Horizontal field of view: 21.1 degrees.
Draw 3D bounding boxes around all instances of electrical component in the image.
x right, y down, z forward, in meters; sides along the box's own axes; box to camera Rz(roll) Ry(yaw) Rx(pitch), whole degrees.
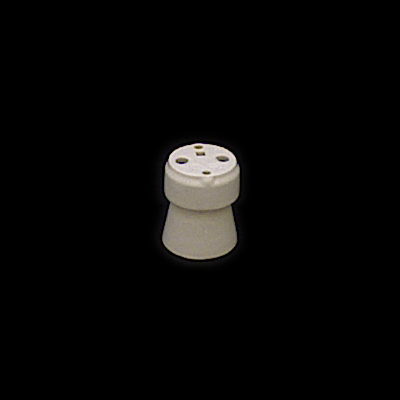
[{"bbox_3d":[0.000,0.000,0.636,0.045,0.056,0.044,1,32,-1],"label":"electrical component"}]
